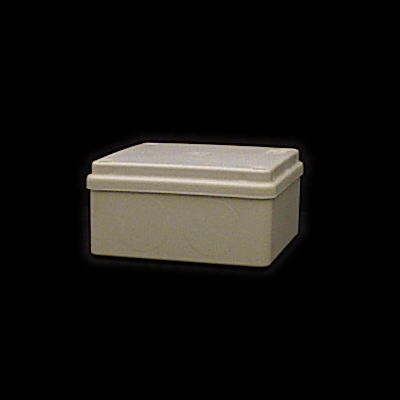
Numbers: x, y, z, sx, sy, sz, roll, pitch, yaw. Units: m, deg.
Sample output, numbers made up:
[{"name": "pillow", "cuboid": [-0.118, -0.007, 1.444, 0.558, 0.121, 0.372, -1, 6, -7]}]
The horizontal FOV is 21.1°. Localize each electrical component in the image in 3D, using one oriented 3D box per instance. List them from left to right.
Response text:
[{"name": "electrical component", "cuboid": [0.000, 0.000, 0.644, 0.108, 0.056, 0.108, 3, 10, 14]}]
